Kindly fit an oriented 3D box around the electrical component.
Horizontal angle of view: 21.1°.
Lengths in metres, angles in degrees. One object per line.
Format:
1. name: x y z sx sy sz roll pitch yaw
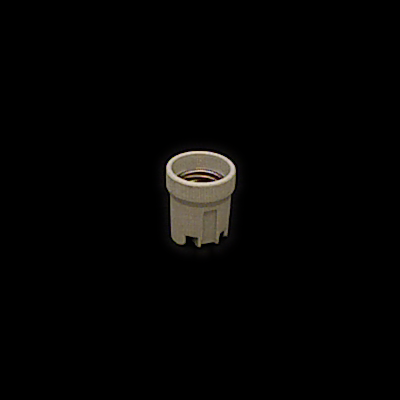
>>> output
1. electrical component: 0.000 0.000 0.634 0.040 0.047 0.039 1 32 0
